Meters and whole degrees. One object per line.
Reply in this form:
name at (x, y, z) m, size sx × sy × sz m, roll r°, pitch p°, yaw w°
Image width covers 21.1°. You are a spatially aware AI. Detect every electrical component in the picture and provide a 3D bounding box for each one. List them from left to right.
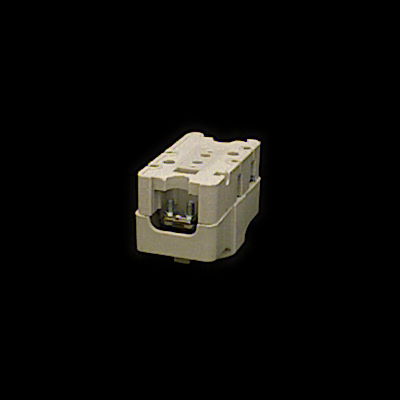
electrical component at (0.000, 0.000, 0.646) m, size 0.050 × 0.056 × 0.089 m, roll 9°, pitch 24°, yaw 18°
